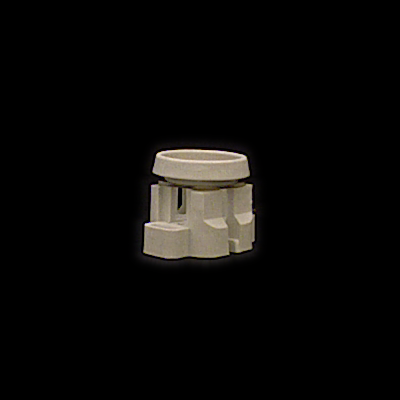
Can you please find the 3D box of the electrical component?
[{"bbox_3d":[0.000,0.000,0.646,0.057,0.057,0.078,11,14,41],"label":"electrical component"}]
